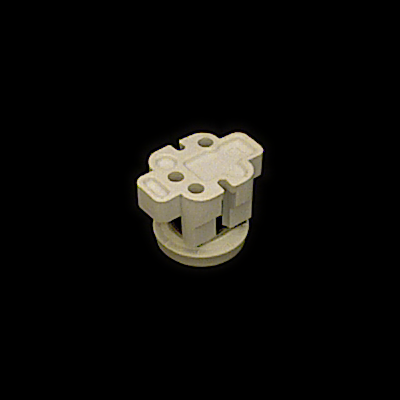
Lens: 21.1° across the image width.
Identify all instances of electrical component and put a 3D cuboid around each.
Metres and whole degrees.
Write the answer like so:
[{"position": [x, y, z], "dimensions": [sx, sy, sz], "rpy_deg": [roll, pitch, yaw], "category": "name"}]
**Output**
[{"position": [0.000, 0.000, 0.641], "dimensions": [0.079, 0.057, 0.057], "rpy_deg": [-27, 49, -29], "category": "electrical component"}]
